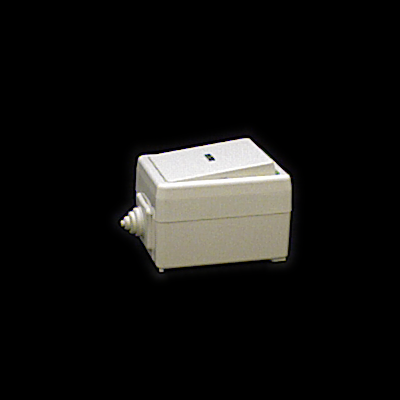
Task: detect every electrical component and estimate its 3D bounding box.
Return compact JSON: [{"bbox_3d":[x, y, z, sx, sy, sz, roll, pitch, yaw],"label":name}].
[{"bbox_3d":[0.000,0.000,0.638,0.096,0.061,0.061,-4,21,-15],"label":"electrical component"}]
